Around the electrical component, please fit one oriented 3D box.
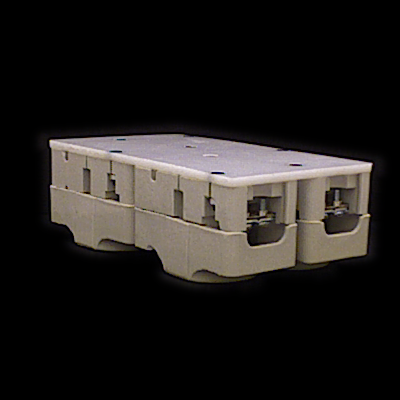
[{"bbox_3d":[0.000,0.000,0.644,0.105,0.061,0.185,-7,13,-38],"label":"electrical component"}]
